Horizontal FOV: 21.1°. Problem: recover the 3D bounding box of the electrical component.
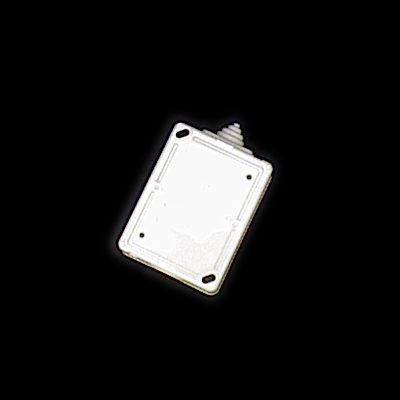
[{"bbox_3d":[0.000,0.000,0.627,0.062,0.096,0.061,25,-6,4],"label":"electrical component"}]
